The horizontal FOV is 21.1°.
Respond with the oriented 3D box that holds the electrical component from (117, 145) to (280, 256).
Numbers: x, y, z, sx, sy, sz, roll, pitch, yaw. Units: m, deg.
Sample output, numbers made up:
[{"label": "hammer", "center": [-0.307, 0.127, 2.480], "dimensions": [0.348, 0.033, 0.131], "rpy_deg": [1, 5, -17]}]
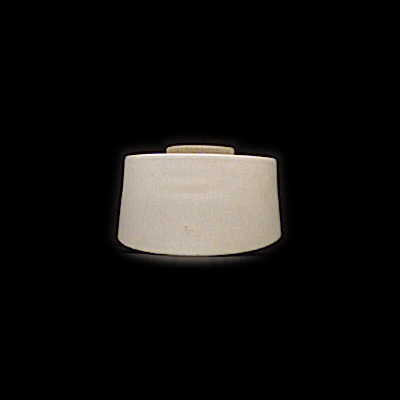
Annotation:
[{"label": "electrical component", "center": [0.000, 0.000, 0.650], "dimensions": [0.099, 0.064, 0.099], "rpy_deg": [1, 0, 0]}]
